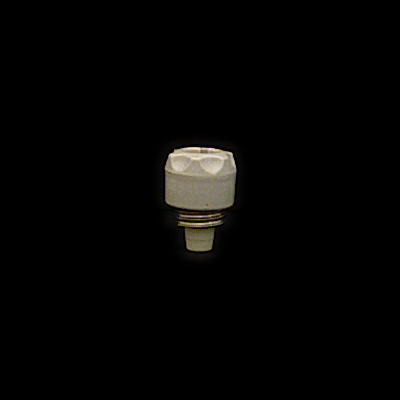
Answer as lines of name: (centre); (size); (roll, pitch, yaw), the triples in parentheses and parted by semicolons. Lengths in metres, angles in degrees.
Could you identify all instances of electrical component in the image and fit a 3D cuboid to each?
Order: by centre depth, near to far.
electrical component: (0.000, 0.000, 0.650); (0.043, 0.062, 0.043); (1, 13, 0)
